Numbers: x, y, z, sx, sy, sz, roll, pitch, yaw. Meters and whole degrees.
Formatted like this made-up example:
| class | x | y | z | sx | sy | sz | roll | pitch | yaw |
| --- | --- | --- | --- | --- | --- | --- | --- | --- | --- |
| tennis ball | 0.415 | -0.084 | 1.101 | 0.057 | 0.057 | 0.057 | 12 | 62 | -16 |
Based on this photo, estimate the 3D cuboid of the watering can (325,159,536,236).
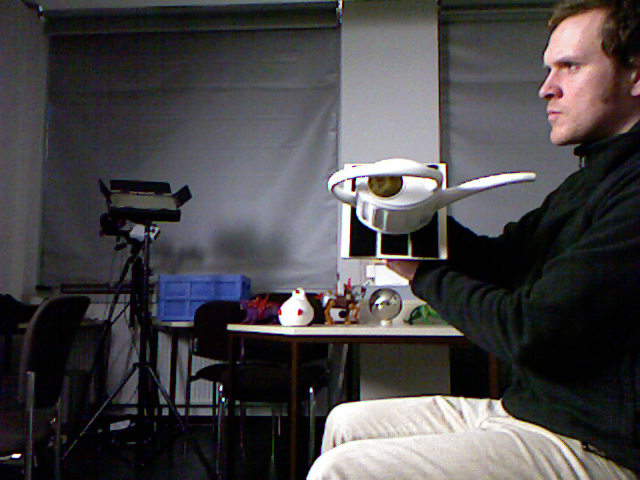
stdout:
| class | x | y | z | sx | sy | sz | roll | pitch | yaw |
| --- | --- | --- | --- | --- | --- | --- | --- | --- | --- |
| watering can | 0.186 | -0.080 | 0.939 | 0.349 | 0.106 | 0.222 | 3 | -18 | 5 |
